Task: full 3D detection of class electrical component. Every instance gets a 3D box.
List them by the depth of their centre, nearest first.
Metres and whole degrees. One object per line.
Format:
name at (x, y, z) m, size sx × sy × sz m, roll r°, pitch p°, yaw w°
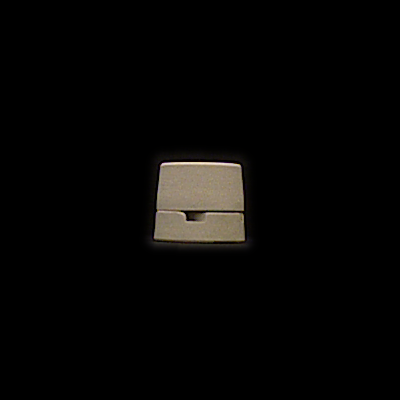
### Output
electrical component at (0.000, 0.000, 0.651) m, size 0.055 × 0.047 × 0.055 m, roll 1°, pitch 0°, yaw 0°
